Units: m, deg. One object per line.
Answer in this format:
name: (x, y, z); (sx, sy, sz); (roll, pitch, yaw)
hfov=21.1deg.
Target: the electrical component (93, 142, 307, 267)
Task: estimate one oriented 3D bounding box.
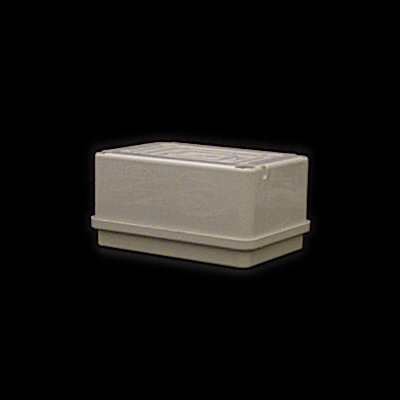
electrical component: (0.000, 0.000, 0.644); (0.112, 0.057, 0.078); (7, 12, 32)
